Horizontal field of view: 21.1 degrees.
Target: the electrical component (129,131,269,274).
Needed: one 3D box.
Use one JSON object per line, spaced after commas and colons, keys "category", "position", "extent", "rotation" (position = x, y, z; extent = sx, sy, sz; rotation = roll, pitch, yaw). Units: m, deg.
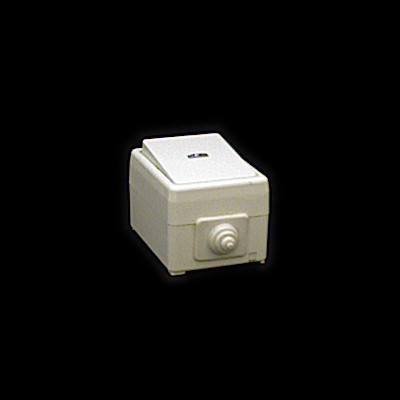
{"category": "electrical component", "position": [0.000, 0.000, 0.636], "extent": [0.062, 0.061, 0.095], "rotation": [-7, 22, -19]}
